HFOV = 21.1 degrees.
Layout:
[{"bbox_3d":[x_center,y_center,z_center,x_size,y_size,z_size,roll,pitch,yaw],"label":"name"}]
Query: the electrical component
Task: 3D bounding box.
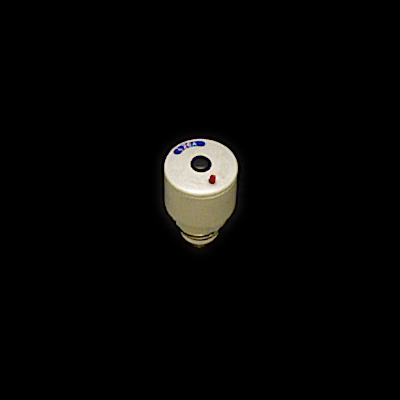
[{"bbox_3d":[0.000,0.000,0.619,0.040,0.040,0.078,0,-37,-1],"label":"electrical component"}]
